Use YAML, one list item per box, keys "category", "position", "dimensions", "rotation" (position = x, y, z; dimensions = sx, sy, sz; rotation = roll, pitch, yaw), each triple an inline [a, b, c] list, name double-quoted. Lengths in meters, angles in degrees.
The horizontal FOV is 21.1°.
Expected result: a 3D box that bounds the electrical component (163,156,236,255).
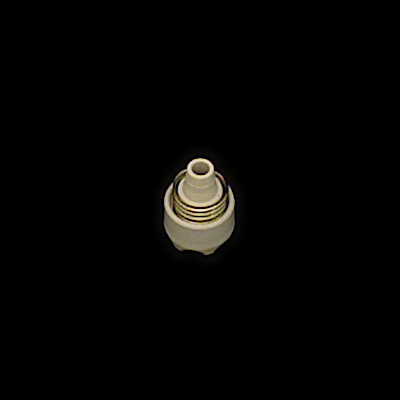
- category: "electrical component"
  position: [0.000, 0.000, 0.636]
  dimensions: [0.043, 0.043, 0.062]
  rotation: [0, -38, -2]
